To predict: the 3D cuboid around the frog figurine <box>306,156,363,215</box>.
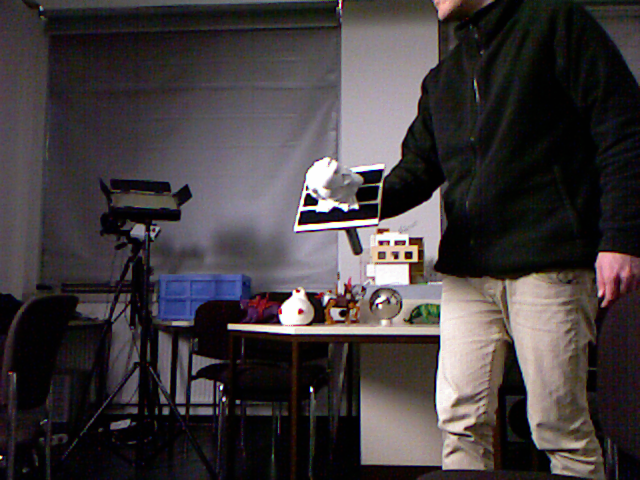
[{"bbox_3d":[0.028,-0.144,1.192,0.138,0.125,0.156,11,-37,27],"label":"frog figurine"}]
